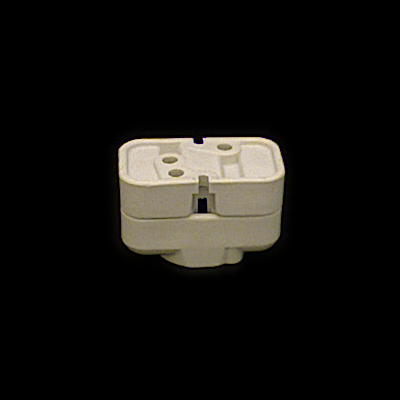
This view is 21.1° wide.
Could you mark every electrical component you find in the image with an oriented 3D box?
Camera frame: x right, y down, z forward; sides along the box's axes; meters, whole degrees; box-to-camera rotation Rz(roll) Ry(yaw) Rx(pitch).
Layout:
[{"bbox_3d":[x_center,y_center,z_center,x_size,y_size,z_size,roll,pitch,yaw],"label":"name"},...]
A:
[{"bbox_3d":[0.000,0.000,0.640,0.095,0.060,0.053,-1,32,-4],"label":"electrical component"}]
